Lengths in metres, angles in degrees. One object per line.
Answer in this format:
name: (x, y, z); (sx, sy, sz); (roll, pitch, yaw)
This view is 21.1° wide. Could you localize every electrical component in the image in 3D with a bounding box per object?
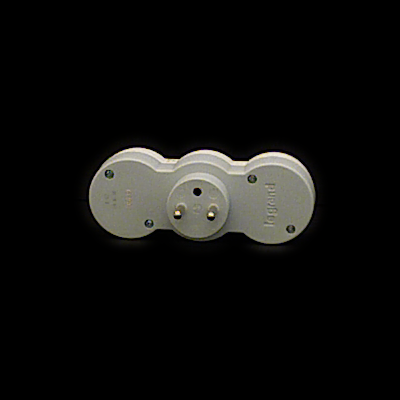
electrical component: (0.000, 0.000, 0.648); (0.138, 0.052, 0.073); (2, 13, 4)
